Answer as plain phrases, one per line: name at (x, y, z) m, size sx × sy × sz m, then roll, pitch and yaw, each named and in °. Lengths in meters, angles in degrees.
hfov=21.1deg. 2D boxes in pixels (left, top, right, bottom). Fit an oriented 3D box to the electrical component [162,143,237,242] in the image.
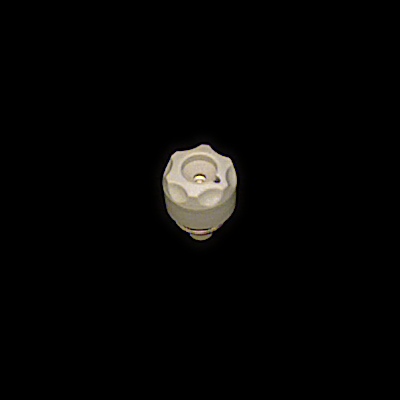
electrical component at (0.000, 0.000, 0.635) m, size 0.043 × 0.043 × 0.062 m, roll 0°, pitch -37°, yaw 1°
